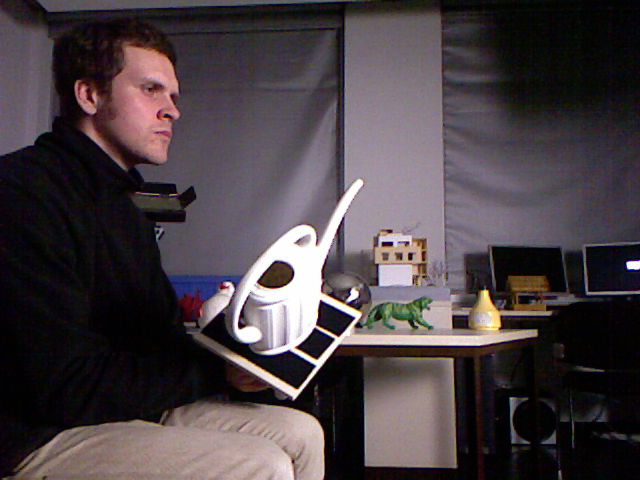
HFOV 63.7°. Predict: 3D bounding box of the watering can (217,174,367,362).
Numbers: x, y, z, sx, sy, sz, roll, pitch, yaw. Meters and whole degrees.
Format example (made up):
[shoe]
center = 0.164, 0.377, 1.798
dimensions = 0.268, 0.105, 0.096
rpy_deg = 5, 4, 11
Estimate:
[watering can]
center = -0.028, 0.053, 0.828
dimensions = 0.105, 0.219, 0.354
rpy_deg = 29, 51, 25
